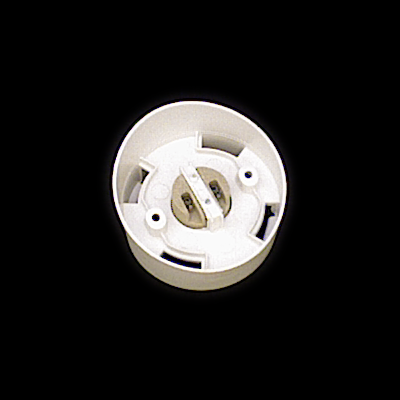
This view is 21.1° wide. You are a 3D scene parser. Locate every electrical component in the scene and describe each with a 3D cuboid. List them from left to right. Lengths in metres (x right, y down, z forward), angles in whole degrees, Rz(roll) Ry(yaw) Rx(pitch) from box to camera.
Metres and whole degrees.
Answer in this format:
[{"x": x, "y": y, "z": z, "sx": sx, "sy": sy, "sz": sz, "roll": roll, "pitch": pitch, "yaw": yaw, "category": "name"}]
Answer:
[{"x": 0.000, "y": 0.000, "z": 0.624, "sx": 0.099, "sy": 0.099, "sz": 0.064, "roll": 0, "pitch": -28, "yaw": 1, "category": "electrical component"}]
